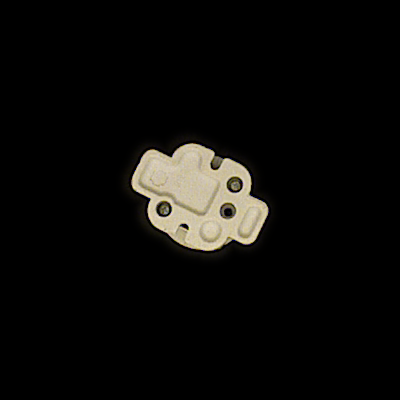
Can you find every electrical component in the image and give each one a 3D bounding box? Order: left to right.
[{"bbox_3d":[0.000,0.000,0.637,0.078,0.058,0.057,25,-4,4],"label":"electrical component"}]
